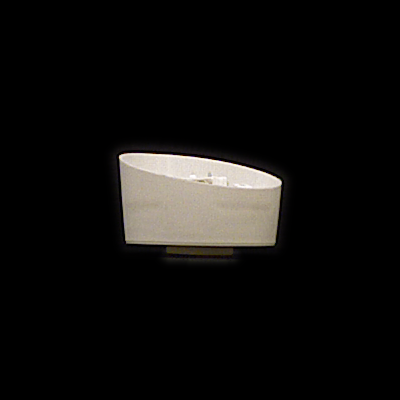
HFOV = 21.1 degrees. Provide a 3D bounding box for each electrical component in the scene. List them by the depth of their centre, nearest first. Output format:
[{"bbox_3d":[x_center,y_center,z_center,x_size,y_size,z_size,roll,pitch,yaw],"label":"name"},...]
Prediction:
[{"bbox_3d":[0.000,0.000,0.649,0.099,0.064,0.099,0,0,0],"label":"electrical component"}]
